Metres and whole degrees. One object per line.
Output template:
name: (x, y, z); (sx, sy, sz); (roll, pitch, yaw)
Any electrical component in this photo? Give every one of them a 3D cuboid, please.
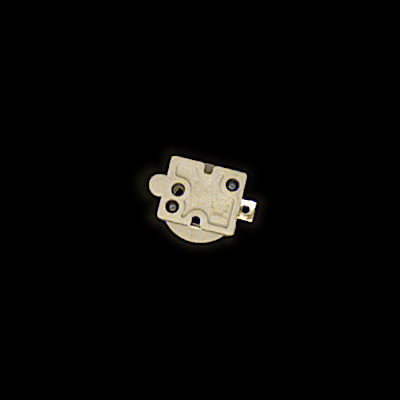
electrical component: (0.000, 0.000, 0.639); (0.066, 0.048, 0.055); (14, -6, 1)
